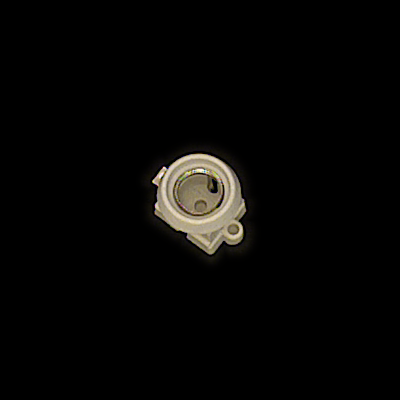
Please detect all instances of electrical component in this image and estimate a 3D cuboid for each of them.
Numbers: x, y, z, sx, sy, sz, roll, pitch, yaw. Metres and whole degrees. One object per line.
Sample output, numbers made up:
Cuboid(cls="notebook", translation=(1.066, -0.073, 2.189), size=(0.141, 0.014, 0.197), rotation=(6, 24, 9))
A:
Cuboid(cls="electrical component", translation=(0.000, 0.000, 0.637), size=(0.066, 0.049, 0.055), rotation=(35, -15, 9))
